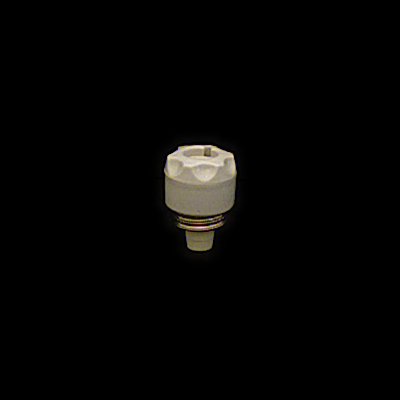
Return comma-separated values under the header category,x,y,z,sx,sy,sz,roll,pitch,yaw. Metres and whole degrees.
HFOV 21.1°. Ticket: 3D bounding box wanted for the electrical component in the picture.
category,x,y,z,sx,sy,sz,roll,pitch,yaw
electrical component,0.000,0.000,0.645,0.043,0.063,0.043,1,23,0
